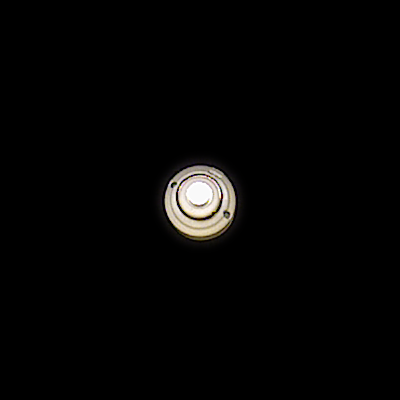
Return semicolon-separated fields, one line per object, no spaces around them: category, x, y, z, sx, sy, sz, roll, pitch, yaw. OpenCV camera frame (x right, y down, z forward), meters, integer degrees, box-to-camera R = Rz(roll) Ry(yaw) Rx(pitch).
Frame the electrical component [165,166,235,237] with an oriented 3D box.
electrical component;0.000;0.000;0.618;0.040;0.040;0.078;0;-6;1
